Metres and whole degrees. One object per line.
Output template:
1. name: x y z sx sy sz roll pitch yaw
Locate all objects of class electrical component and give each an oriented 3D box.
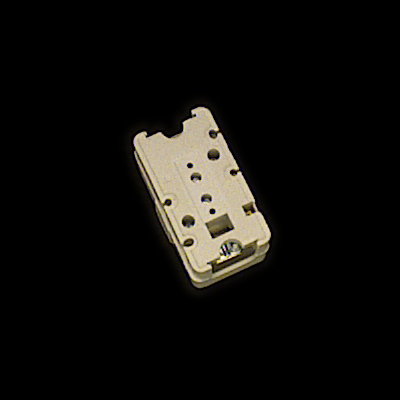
1. electrical component: 0.000 0.000 0.636 0.050 0.089 0.055 -24 -14 -7
